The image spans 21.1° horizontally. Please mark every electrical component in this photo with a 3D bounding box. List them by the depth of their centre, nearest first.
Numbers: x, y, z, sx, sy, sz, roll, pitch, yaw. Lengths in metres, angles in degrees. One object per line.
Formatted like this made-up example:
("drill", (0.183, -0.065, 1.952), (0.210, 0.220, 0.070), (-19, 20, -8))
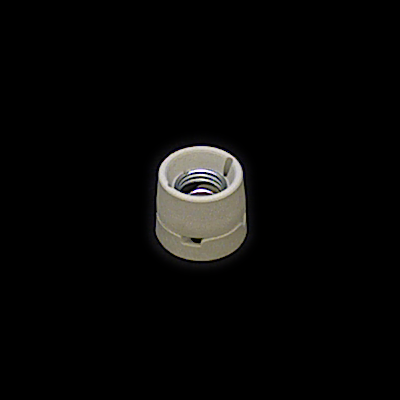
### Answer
("electrical component", (0.000, 0.000, 0.635), (0.055, 0.047, 0.055), (0, 42, 0))
